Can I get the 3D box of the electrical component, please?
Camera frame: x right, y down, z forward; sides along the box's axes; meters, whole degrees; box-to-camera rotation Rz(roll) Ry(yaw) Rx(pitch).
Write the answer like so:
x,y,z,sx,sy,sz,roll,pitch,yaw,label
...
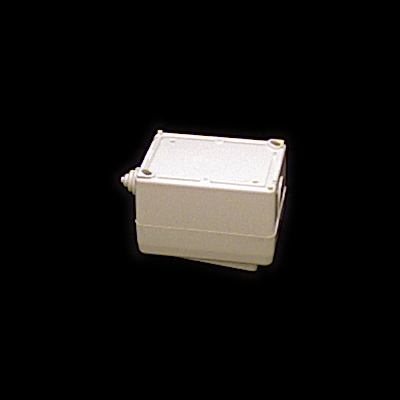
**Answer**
x,y,z,sx,sy,sz,roll,pitch,yaw,label
0.000,0.000,0.637,0.096,0.061,0.061,5,32,8,electrical component
